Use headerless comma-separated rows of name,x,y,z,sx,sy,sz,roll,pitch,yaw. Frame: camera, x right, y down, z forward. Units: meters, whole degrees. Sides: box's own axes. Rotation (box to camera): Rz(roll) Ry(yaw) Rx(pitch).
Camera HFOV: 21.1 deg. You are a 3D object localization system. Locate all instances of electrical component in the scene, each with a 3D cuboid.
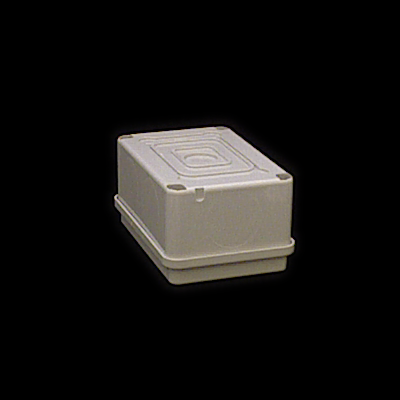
electrical component,0.000,0.000,0.639,0.078,0.058,0.111,-6,22,-19
